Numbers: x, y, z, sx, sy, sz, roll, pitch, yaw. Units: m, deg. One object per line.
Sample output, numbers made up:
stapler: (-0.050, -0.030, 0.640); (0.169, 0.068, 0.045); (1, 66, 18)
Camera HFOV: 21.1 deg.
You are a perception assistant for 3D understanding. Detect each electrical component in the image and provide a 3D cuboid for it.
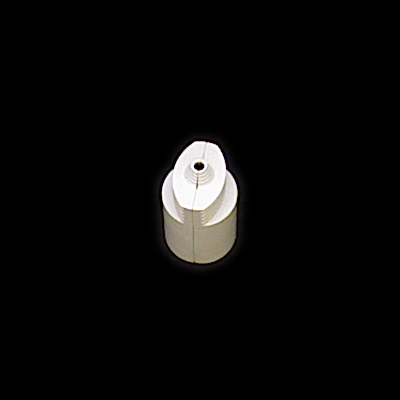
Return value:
electrical component: (0.000, 0.000, 0.618); (0.043, 0.043, 0.081); (0, -28, 0)
